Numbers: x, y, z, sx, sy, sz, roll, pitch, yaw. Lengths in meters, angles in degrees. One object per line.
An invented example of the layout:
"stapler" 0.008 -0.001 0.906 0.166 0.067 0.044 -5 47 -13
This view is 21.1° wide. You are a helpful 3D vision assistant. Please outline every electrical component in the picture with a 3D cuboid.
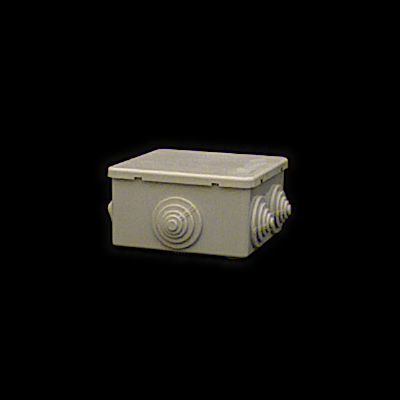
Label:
"electrical component" 0.000 0.000 0.651 0.099 0.049 0.099 5 12 18
